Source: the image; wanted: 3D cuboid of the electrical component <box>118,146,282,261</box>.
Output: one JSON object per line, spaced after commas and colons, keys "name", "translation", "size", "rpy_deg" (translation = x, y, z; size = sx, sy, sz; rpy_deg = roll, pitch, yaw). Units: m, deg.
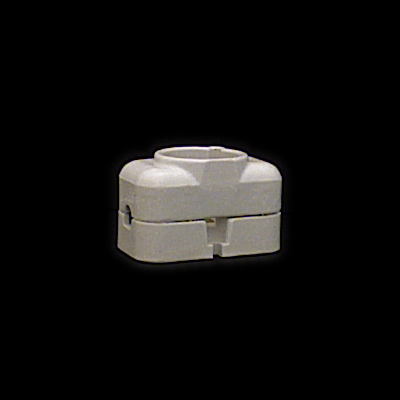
{"name": "electrical component", "translation": [0.000, 0.000, 0.652], "size": [0.096, 0.060, 0.053], "rpy_deg": [-4, 13, -25]}
